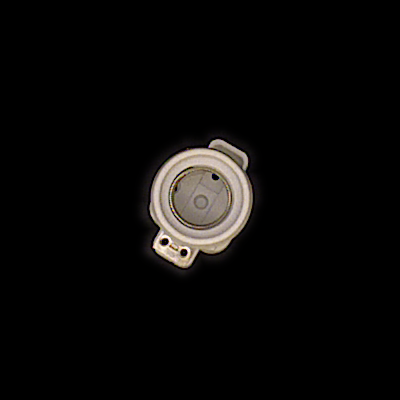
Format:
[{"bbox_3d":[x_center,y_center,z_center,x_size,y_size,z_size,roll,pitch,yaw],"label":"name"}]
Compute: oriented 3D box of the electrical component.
[{"bbox_3d":[0.000,0.000,0.629,0.058,0.079,0.056,30,-5,3],"label":"electrical component"}]
